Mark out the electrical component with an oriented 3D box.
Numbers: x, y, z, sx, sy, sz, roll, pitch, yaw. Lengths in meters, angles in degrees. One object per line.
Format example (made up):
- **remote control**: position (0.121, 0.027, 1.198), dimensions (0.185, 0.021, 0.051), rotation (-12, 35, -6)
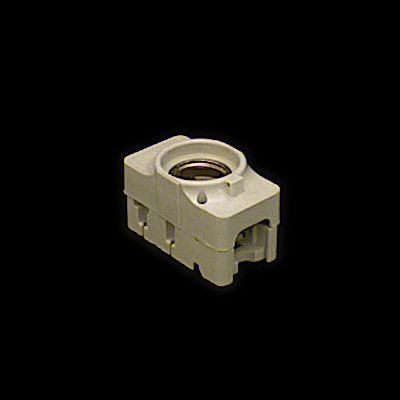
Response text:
- **electrical component**: position (0.000, 0.000, 0.642), dimensions (0.050, 0.056, 0.088), rotation (-26, 41, -36)
